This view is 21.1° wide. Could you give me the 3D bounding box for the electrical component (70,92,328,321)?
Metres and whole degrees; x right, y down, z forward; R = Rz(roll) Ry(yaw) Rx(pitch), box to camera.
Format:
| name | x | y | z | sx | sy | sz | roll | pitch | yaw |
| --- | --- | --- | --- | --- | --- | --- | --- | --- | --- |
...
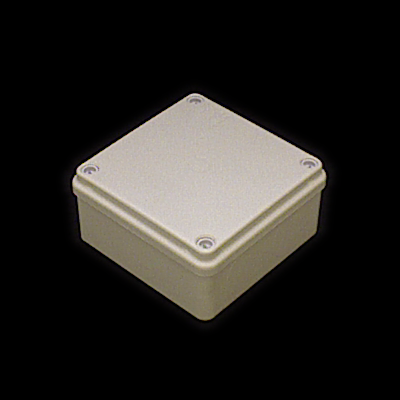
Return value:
| name | x | y | z | sx | sy | sz | roll | pitch | yaw |
| --- | --- | --- | --- | --- | --- | --- | --- | --- | --- |
| electrical component | 0.000 | 0.000 | 0.631 | 0.108 | 0.056 | 0.108 | 32 | 51 | 29 |
